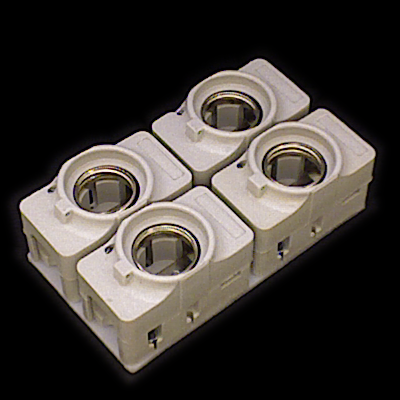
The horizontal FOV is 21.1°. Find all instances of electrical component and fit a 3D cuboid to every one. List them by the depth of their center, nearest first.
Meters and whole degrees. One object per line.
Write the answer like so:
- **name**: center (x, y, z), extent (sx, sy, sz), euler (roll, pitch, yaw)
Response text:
- **electrical component**: center (0.000, 0.000, 0.626), extent (0.186, 0.105, 0.060), euler (-33, -30, -23)
